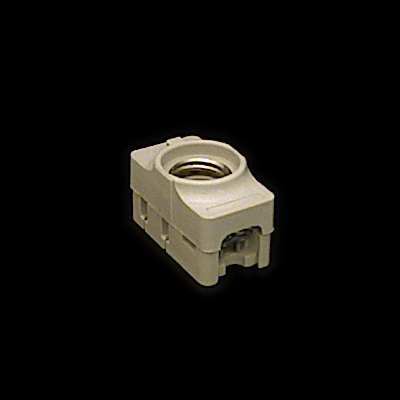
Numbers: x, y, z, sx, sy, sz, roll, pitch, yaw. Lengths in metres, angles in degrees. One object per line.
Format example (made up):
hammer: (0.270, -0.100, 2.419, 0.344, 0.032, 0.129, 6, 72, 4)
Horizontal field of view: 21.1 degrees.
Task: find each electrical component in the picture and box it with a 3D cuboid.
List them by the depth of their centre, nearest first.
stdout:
electrical component: (0.000, 0.000, 0.643, 0.050, 0.056, 0.088, -18, 37, -28)
